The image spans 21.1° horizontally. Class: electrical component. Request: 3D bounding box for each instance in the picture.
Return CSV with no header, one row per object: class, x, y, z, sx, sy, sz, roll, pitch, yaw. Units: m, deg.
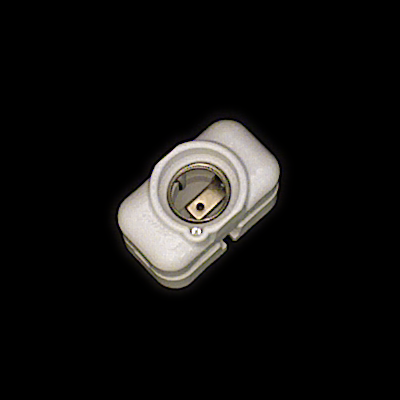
electrical component,0.000,0.000,0.633,0.095,0.053,0.059,-42,-12,-11
